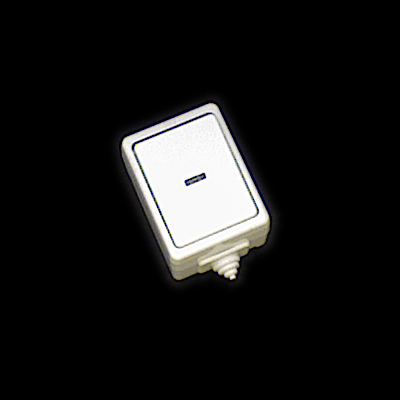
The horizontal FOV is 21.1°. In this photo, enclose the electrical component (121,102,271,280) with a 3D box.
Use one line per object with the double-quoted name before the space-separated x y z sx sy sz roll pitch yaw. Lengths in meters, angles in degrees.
"electrical component" 0.000 0.000 0.625 0.062 0.096 0.060 -23 -16 -7
